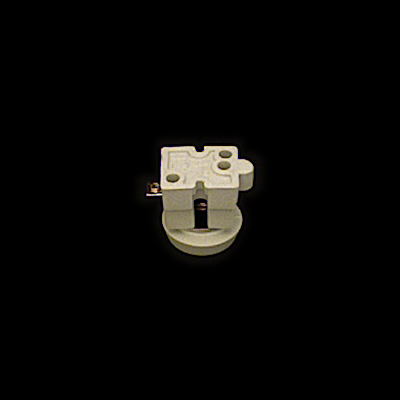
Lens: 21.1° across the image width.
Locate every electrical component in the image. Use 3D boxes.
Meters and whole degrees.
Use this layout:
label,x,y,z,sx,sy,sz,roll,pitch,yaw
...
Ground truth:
label,x,y,z,sx,sy,sz,roll,pitch,yaw
electrical component,0.000,0.000,0.641,0.066,0.056,0.048,0,44,0
